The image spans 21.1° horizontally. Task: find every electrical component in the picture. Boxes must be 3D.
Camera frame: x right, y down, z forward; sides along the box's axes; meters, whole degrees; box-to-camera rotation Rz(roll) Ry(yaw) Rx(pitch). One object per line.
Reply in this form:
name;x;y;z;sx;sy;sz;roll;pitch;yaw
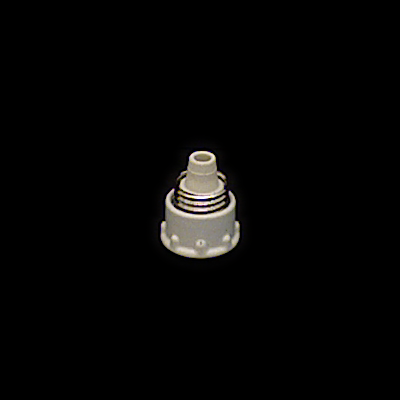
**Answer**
electrical component;0.000;0.000;0.641;0.048;0.063;0.047;1;33;0
